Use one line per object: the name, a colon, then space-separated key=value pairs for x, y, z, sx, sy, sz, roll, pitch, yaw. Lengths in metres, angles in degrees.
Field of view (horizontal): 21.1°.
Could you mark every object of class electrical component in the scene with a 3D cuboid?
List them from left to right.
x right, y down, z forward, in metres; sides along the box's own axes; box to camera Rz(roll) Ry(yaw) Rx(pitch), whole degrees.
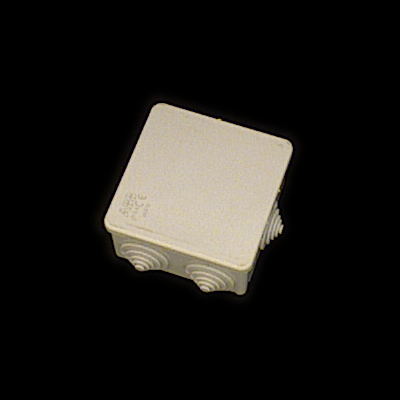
electrical component: x=0.000 y=0.000 z=0.639 sx=0.099 sy=0.100 sz=0.048 roll=17 pitch=-25 yaw=8
